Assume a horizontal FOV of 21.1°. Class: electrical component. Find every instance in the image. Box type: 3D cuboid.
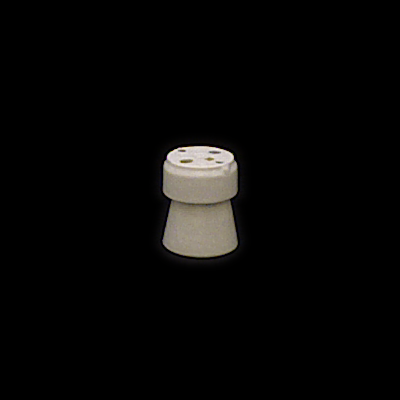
[{"bbox_3d":[0.000,0.000,0.638,0.045,0.056,0.044,0,21,0],"label":"electrical component"}]
